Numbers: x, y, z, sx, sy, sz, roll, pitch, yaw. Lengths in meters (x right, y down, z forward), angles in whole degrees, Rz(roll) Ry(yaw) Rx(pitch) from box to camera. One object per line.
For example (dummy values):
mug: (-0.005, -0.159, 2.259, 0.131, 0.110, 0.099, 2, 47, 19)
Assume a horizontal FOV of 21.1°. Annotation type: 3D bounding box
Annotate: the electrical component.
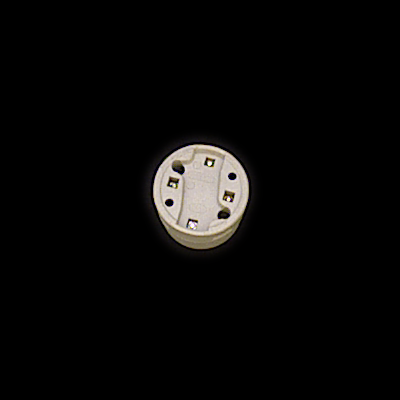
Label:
electrical component: (0.000, 0.000, 0.635, 0.055, 0.056, 0.047, 0, -17, 0)
